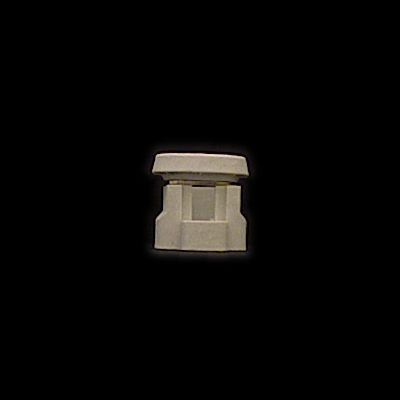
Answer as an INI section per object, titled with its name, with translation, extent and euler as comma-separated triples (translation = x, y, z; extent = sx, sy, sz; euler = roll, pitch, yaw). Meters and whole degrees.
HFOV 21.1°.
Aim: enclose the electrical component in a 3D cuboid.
[electrical component]
translation = 0.000, 0.000, 0.651
extent = 0.058, 0.057, 0.078
euler = 1, 0, -5
